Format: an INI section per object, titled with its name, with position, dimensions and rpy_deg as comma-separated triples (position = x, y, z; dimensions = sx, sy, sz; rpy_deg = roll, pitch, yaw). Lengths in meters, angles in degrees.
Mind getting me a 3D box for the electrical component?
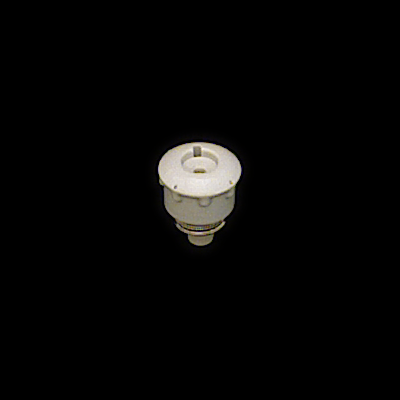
[electrical component]
position = 0.000, 0.000, 0.637
dimensions = 0.048, 0.062, 0.047
rpy_deg = 1, 43, 0
